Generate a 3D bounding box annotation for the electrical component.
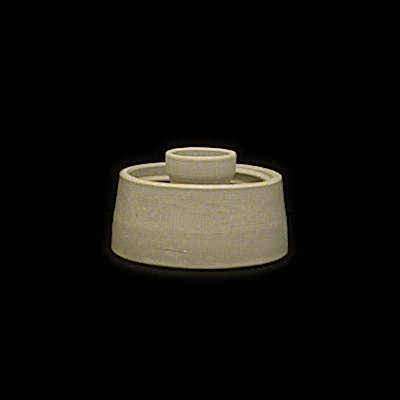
[{"bbox_3d":[0.000,0.000,0.652,0.108,0.061,0.107,1,11,0],"label":"electrical component"}]
